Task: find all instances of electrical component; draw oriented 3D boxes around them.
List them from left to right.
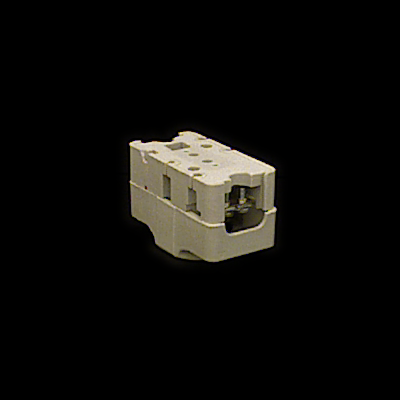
[{"bbox_3d":[0.000,0.000,0.646,0.050,0.056,0.088,-15,26,-32],"label":"electrical component"}]
